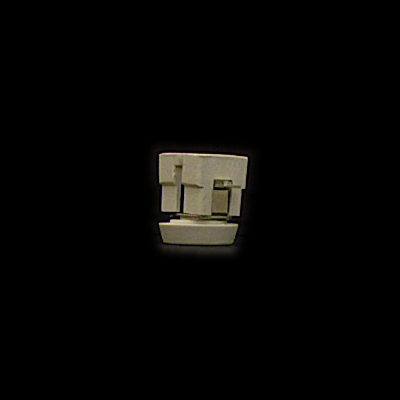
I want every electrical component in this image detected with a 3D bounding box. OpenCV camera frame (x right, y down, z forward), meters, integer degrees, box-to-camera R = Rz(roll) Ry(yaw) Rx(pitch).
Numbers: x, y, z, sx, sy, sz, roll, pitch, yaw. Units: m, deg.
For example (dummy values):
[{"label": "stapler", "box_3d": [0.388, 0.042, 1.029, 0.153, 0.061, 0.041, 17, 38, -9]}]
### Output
[{"label": "electrical component", "box_3d": [0.000, 0.000, 0.656, 0.049, 0.055, 0.065, 1, 2, -37]}]
